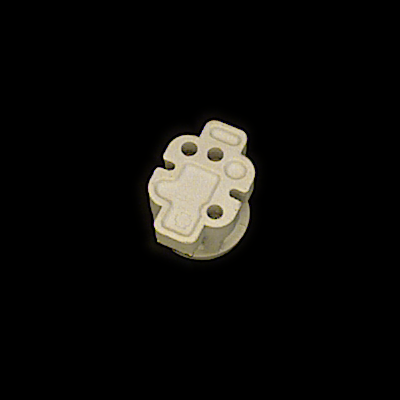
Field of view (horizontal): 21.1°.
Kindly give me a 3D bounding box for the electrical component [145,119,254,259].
[{"bbox_3d":[0.000,0.000,0.635,0.057,0.079,0.056,22,-23,10],"label":"electrical component"}]
